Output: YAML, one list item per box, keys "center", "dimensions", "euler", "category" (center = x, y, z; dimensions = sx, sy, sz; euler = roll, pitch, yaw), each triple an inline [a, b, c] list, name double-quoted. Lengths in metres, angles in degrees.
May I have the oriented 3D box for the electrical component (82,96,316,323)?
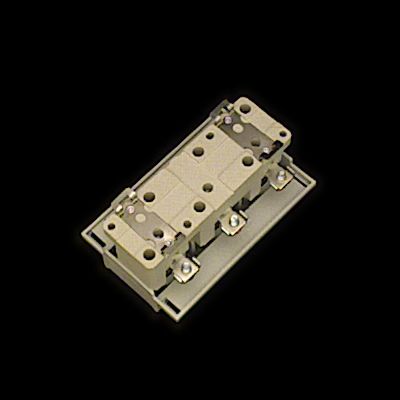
- center: [0.000, 0.000, 0.634]
  dimensions: [0.078, 0.122, 0.063]
  euler: [40, -21, 18]
  category: "electrical component"
